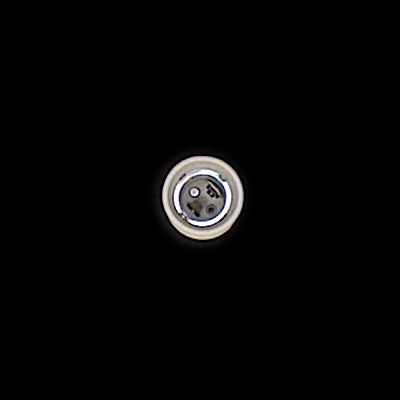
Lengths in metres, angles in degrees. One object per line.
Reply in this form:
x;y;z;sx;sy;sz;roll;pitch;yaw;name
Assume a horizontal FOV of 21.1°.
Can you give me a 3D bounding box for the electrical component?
0.000;0.000;0.629;0.045;0.045;0.055;0;-6;0;electrical component
